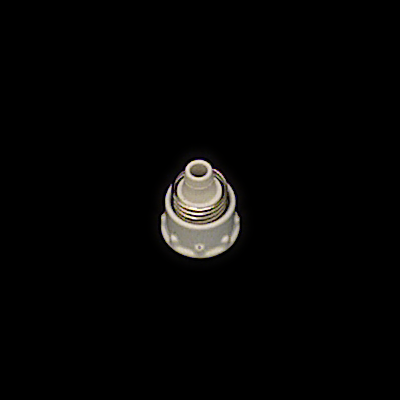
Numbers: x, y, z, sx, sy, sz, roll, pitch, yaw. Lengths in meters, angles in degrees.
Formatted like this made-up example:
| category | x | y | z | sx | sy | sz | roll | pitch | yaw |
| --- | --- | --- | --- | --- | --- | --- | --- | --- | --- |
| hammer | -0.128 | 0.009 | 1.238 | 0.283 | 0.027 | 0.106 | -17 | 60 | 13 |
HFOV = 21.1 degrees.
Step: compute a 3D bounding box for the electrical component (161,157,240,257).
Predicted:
| category | x | y | z | sx | sy | sz | roll | pitch | yaw |
| --- | --- | --- | --- | --- | --- | --- | --- | --- | --- |
| electrical component | 0.000 | 0.000 | 0.634 | 0.048 | 0.048 | 0.062 | 0 | -36 | 1 |
